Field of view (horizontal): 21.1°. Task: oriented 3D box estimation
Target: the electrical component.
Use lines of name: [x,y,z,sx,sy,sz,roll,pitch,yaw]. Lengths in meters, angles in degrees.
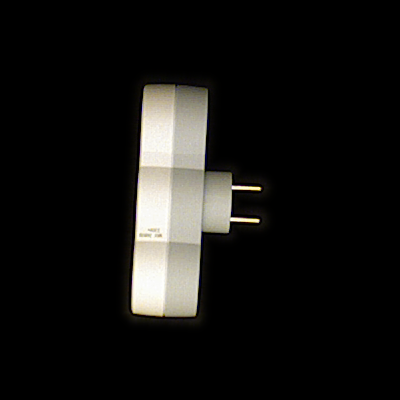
electrical component: [0.000,0.000,0.639,0.074,0.138,0.052,3,-6,-1]
